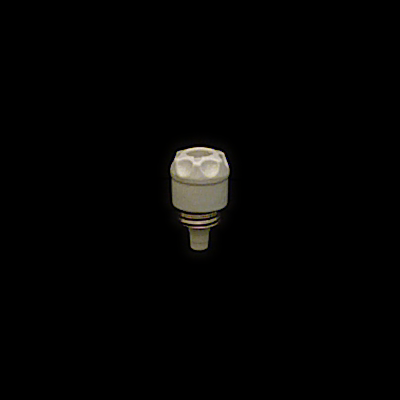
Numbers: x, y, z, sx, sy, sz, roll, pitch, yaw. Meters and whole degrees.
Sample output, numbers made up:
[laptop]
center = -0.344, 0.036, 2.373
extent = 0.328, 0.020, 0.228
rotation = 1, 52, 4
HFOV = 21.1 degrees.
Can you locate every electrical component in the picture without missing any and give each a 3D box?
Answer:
[electrical component]
center = 0.000, 0.000, 0.644
extent = 0.035, 0.062, 0.035
rotation = 1, 22, 0
